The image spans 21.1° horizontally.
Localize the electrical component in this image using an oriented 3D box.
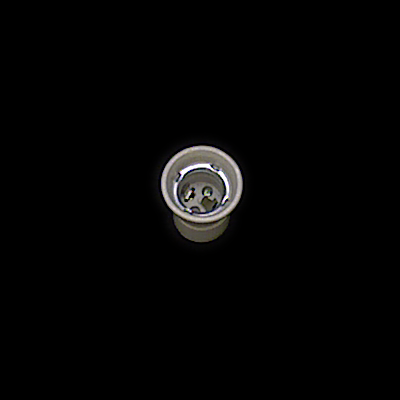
[{"bbox_3d":[0.000,0.000,0.625,0.044,0.044,0.065,0,-18,0],"label":"electrical component"}]
